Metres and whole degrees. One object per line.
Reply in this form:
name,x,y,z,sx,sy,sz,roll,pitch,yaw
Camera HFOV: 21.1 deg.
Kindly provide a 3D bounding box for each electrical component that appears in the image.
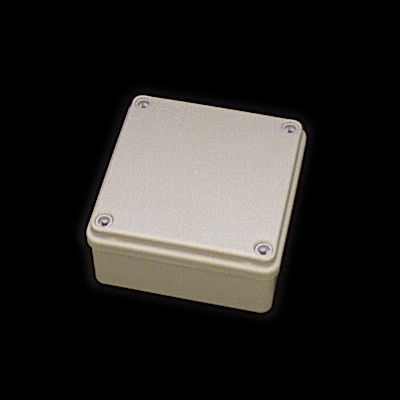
electrical component,0.000,0.000,0.629,0.108,0.108,0.056,10,-37,7
